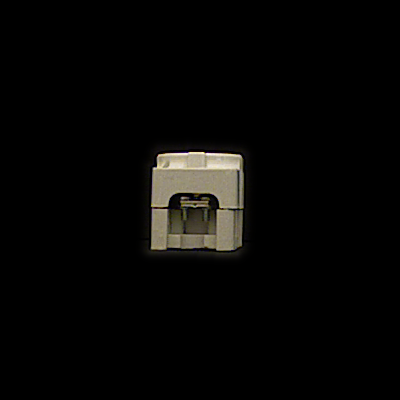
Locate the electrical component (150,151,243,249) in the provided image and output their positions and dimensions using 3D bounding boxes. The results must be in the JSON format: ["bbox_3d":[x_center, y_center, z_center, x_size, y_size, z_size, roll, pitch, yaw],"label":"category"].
[{"bbox_3d":[0.000,0.000,0.656,0.050,0.056,0.089,1,1,4],"label":"electrical component"}]
